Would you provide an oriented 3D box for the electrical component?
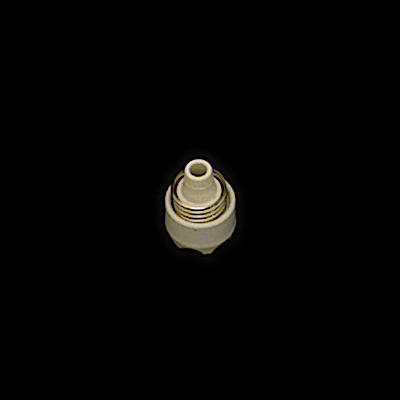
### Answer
[{"bbox_3d":[0.000,0.000,0.635,0.043,0.043,0.062,0,-37,1],"label":"electrical component"}]
